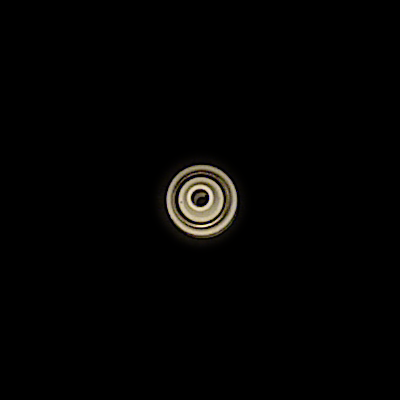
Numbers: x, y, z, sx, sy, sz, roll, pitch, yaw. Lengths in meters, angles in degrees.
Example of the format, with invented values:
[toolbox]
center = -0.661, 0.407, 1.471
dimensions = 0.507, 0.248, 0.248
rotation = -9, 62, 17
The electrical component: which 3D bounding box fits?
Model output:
[electrical component]
center = 0.000, 0.000, 0.634
dimensions = 0.043, 0.043, 0.062
rotation = 0, -4, 2
